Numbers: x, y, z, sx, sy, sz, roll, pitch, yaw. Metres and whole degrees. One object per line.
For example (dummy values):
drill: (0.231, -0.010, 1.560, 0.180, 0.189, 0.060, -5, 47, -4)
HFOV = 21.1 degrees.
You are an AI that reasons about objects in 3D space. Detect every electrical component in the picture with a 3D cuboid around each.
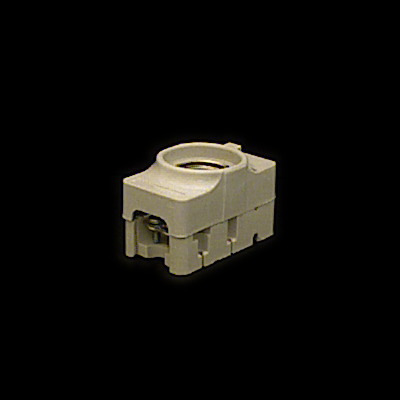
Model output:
electrical component: (0.000, 0.000, 0.646, 0.049, 0.056, 0.090, 18, 28, 36)
